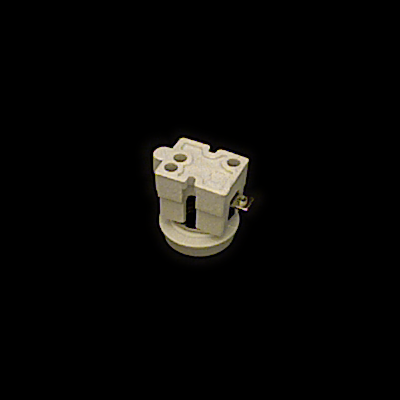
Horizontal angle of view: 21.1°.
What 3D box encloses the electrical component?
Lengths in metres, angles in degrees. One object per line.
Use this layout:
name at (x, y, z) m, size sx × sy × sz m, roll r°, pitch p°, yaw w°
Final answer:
electrical component at (0.000, 0.000, 0.640) m, size 0.066 × 0.056 × 0.048 m, roll 18°, pitch 44°, yaw 17°
